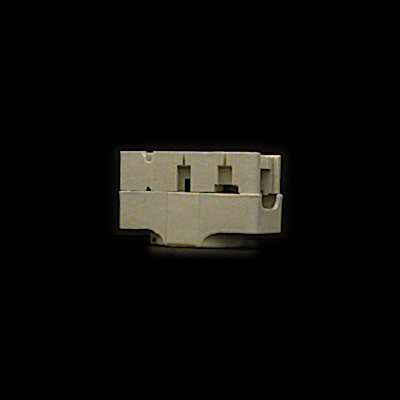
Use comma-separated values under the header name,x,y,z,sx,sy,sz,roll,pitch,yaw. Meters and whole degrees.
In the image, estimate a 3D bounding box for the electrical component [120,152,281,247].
name,x,y,z,sx,sy,sz,roll,pitch,yaw
electrical component,0.000,0.000,0.656,0.089,0.056,0.050,1,2,24
